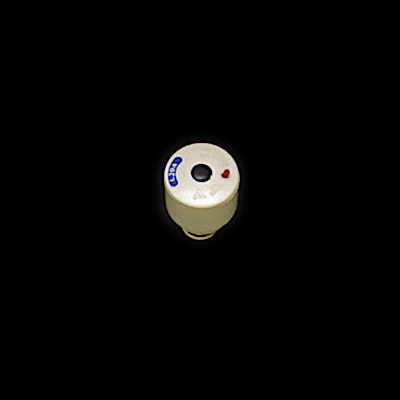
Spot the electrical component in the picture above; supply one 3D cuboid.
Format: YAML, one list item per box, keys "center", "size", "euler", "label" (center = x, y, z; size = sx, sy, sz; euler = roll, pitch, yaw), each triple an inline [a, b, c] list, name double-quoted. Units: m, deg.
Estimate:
- center: [0.000, 0.000, 0.617]
  size: [0.040, 0.040, 0.078]
  euler: [0, -27, -1]
  label: "electrical component"
